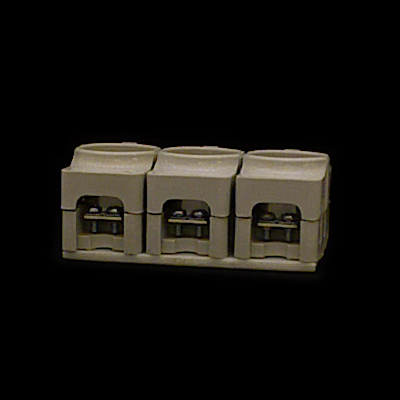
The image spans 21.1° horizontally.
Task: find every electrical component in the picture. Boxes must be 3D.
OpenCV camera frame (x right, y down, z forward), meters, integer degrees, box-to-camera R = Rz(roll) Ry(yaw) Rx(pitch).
[{"bbox_3d":[0.000,0.000,0.652,0.150,0.062,0.088,3,10,10],"label":"electrical component"}]
